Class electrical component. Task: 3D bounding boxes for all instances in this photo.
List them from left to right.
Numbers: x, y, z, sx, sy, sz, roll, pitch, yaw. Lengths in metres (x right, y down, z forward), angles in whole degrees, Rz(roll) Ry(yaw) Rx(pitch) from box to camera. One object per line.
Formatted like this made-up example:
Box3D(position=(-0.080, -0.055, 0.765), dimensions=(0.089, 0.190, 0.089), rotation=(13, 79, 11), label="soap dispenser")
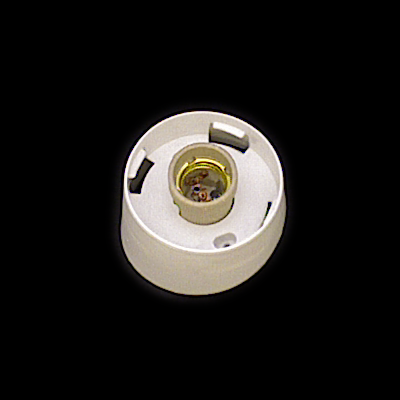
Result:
Box3D(position=(0.000, 0.000, 0.625), dimensions=(0.099, 0.099, 0.064), rotation=(0, -27, 0), label="electrical component")
